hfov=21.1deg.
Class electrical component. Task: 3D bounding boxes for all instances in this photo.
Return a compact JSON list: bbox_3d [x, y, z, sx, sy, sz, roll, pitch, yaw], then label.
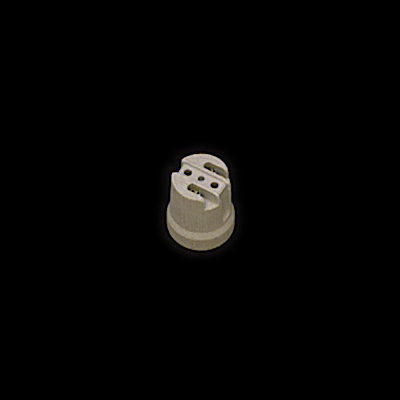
[{"bbox_3d":[0.000,0.000,0.633,0.040,0.040,0.046,0,-37,0],"label":"electrical component"}]
